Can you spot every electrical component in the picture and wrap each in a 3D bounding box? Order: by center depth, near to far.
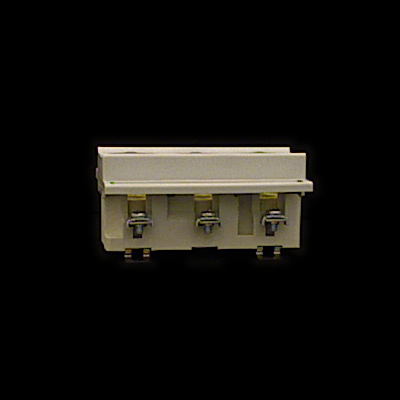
[{"bbox_3d":[0.000,0.000,0.658,0.122,0.063,0.078,-1,10,-9],"label":"electrical component"}]
